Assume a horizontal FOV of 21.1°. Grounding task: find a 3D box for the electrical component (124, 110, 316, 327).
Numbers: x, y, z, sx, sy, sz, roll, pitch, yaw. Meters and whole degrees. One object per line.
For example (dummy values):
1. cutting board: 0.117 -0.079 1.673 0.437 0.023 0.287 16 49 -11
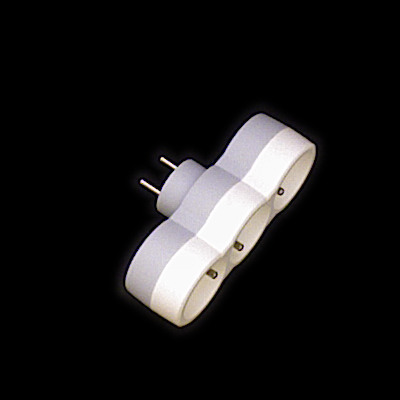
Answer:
1. electrical component: 0.000 0.000 0.629 0.073 0.139 0.052 33 -22 17
